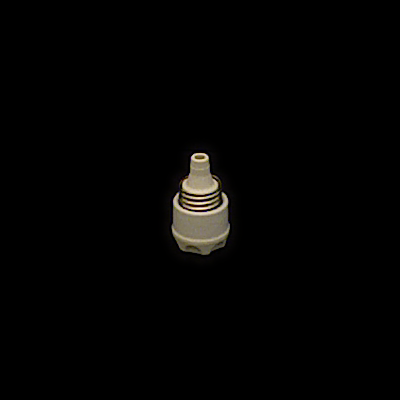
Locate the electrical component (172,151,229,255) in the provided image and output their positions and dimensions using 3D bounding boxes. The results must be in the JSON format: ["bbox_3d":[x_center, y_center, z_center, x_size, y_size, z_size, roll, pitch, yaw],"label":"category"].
[{"bbox_3d":[0.000,0.000,0.645,0.035,0.062,0.034,0,31,0],"label":"electrical component"}]
